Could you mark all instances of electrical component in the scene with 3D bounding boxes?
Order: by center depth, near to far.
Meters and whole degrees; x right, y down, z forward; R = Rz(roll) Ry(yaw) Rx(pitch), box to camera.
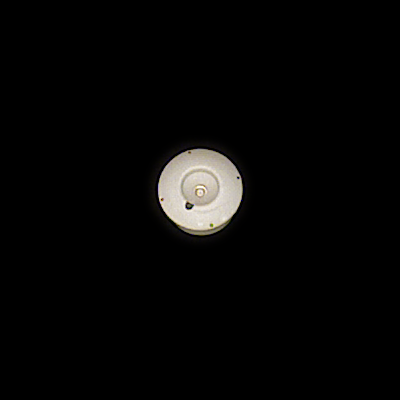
[{"bbox_3d":[0.000,0.000,0.633,0.048,0.048,0.061,0,-16,1],"label":"electrical component"}]
